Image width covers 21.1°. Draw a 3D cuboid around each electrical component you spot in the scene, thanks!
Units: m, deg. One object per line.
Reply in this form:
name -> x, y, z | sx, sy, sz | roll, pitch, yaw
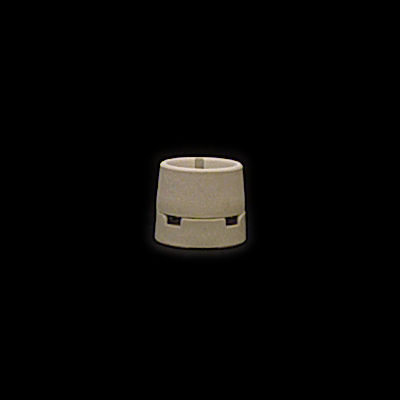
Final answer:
electrical component -> 0.000, 0.000, 0.644 | 0.055, 0.047, 0.055 | 1, 12, 0
